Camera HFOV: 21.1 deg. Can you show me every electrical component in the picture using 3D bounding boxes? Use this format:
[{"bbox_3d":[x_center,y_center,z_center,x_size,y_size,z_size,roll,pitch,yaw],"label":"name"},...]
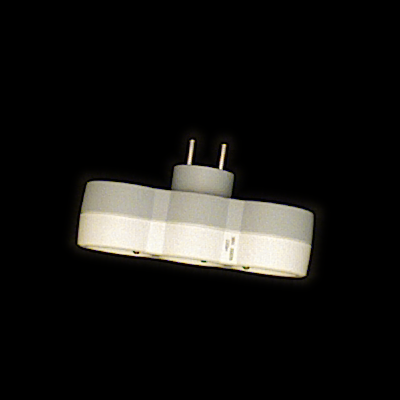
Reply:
[{"bbox_3d":[0.000,0.000,0.640,0.138,0.074,0.052,8,-7,1],"label":"electrical component"}]
